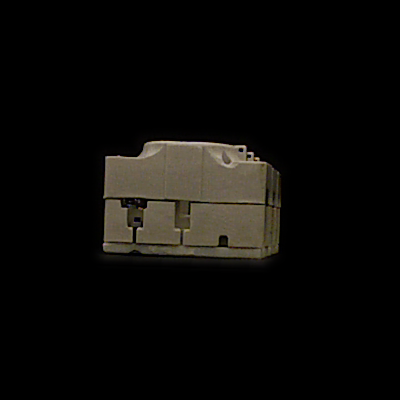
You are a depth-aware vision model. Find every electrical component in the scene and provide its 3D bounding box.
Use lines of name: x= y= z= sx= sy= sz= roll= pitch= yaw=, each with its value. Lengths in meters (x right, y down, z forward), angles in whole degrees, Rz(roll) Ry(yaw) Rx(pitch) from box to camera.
electrical component: x=0.000 y=0.000 z=0.657 sx=0.089 sy=0.062 sz=0.150 roll=2 pitch=0 yaw=7
